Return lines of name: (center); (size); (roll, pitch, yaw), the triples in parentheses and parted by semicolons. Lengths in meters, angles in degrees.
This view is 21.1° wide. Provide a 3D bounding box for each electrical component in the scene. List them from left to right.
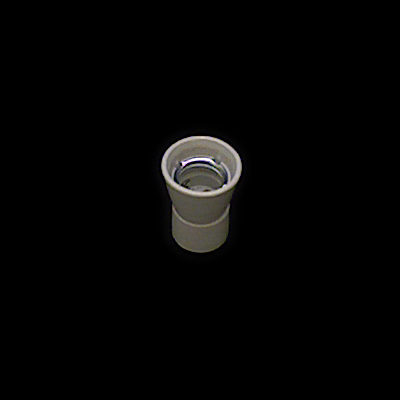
electrical component: (0.000, 0.000, 0.628); (0.044, 0.044, 0.065); (0, -39, -1)
